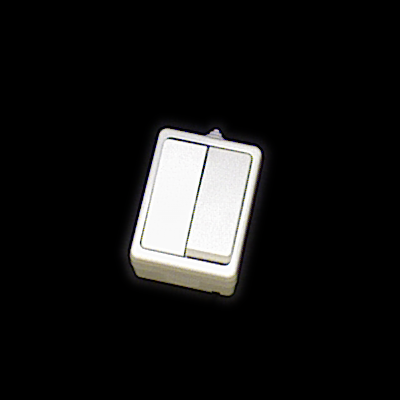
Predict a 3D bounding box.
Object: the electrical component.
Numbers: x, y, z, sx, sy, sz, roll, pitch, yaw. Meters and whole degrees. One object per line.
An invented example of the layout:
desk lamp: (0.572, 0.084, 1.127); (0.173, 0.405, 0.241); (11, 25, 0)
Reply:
electrical component: (0.000, 0.000, 0.627); (0.062, 0.096, 0.060); (12, -17, 4)
